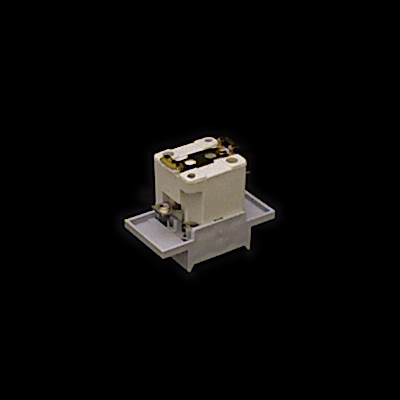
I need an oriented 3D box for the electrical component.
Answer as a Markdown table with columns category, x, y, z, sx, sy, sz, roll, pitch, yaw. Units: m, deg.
| category | x | y | z | sx | sy | sz | roll | pitch | yaw |
| --- | --- | --- | --- | --- | --- | --- | --- | --- | --- |
| electrical component | 0.000 | 0.000 | 0.633 | 0.081 | 0.064 | 0.041 | -19 | 37 | -30 |
